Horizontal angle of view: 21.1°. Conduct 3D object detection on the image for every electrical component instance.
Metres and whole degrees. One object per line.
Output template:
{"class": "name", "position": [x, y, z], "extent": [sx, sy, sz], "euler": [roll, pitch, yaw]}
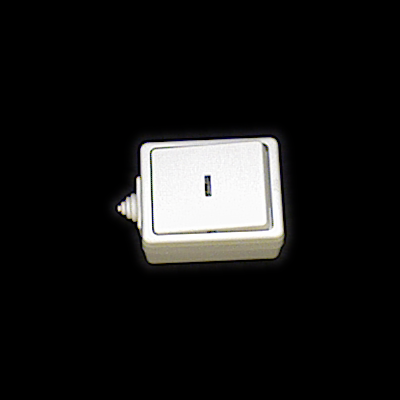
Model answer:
{"class": "electrical component", "position": [0.000, 0.000, 0.626], "extent": [0.096, 0.062, 0.060], "euler": [-3, -17, -1]}
